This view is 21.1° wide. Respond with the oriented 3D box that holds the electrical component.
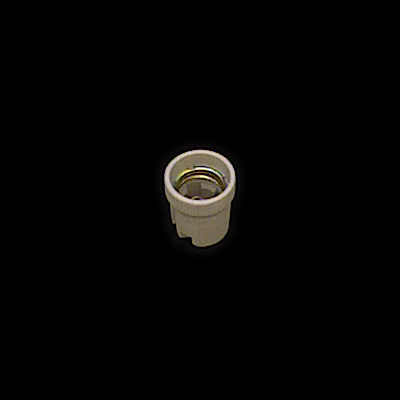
[{"bbox_3d":[0.000,0.000,0.630,0.040,0.040,0.046,0,-38,-1],"label":"electrical component"}]
